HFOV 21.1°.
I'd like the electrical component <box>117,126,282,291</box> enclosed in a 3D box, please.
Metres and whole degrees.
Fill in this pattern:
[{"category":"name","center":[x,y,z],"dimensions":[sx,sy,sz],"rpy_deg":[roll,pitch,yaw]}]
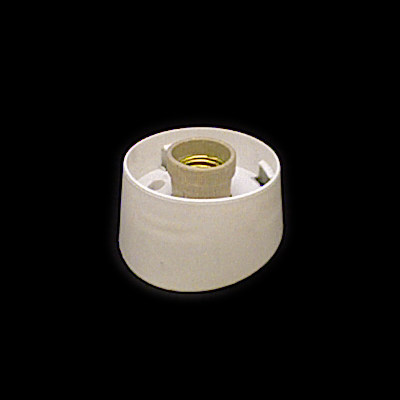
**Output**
[{"category":"electrical component","center":[0.000,0.000,0.634],"dimensions":[0.099,0.065,0.097],"rpy_deg":[1,32,0]}]
